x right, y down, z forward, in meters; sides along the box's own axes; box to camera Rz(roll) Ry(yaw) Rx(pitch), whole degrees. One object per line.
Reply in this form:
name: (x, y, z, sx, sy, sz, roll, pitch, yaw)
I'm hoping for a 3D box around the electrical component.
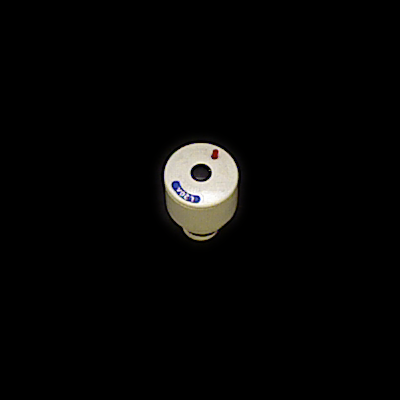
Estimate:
electrical component: (0.000, 0.000, 0.619, 0.040, 0.040, 0.078, 0, -28, 0)
